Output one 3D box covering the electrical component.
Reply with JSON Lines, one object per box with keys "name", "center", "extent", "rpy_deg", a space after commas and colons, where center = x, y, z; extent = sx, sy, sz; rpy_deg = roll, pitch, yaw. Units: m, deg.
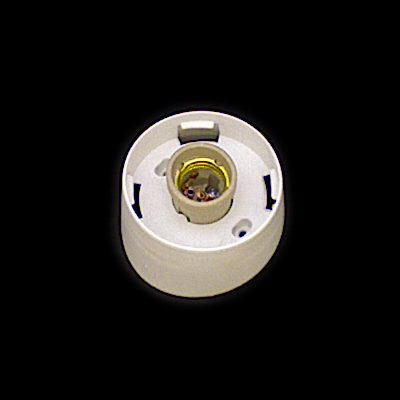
{"name": "electrical component", "center": [0.000, 0.000, 0.625], "extent": [0.099, 0.099, 0.064], "rpy_deg": [0, -27, 0]}
